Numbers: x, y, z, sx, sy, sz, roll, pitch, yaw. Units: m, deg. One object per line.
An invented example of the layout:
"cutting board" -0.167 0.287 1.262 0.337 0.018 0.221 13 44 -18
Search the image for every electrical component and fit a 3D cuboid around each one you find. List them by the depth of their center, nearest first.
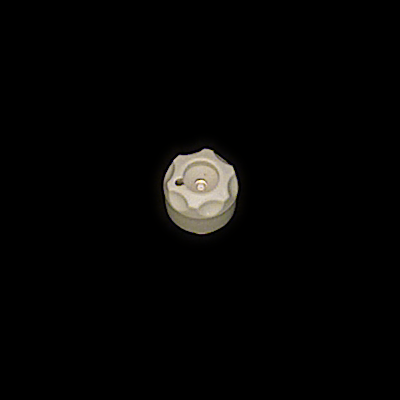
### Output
"electrical component" 0.000 0.000 0.635 0.043 0.043 0.062 0 -27 0
